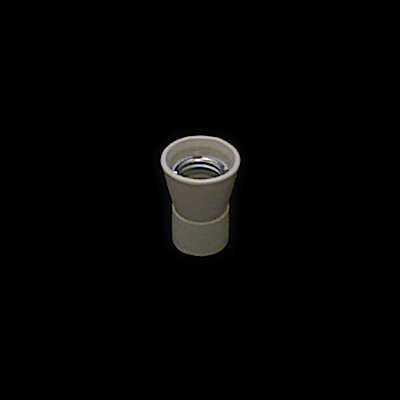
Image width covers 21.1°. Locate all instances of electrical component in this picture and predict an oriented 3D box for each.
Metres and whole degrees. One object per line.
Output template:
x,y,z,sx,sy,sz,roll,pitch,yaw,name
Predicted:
0.000,0.000,0.631,0.044,0.066,0.044,0,41,0,electrical component
